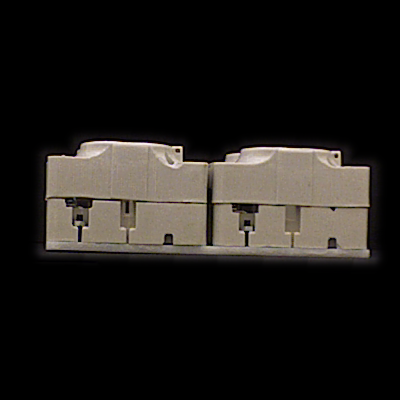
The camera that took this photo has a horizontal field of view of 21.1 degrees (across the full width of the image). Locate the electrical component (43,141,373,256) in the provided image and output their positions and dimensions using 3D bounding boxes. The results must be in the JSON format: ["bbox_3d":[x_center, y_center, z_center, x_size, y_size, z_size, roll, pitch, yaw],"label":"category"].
[{"bbox_3d":[0.000,0.000,0.651,0.186,0.060,0.105,2,0,-8],"label":"electrical component"}]
